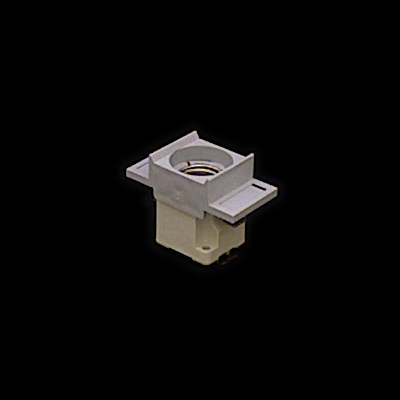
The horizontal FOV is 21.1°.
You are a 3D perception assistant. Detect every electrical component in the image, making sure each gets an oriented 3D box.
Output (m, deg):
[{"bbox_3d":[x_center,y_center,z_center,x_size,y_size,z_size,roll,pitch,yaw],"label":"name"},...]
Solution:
[{"bbox_3d":[0.000,0.000,0.634,0.080,0.064,0.042,24,39,32],"label":"electrical component"}]
